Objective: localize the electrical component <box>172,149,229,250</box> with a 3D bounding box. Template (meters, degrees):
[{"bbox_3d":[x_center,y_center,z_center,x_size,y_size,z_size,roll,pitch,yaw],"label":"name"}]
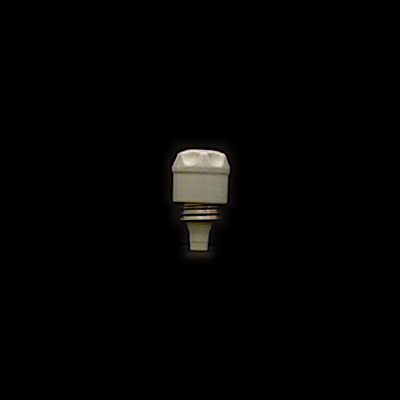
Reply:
[{"bbox_3d":[0.000,0.000,0.657,0.035,0.061,0.035,1,2,0],"label":"electrical component"}]
